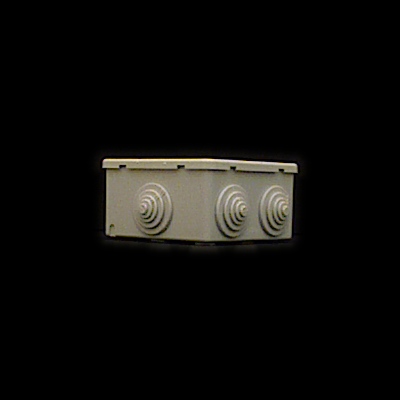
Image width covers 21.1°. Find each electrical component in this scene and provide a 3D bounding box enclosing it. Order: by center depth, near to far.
[{"bbox_3d":[0.000,0.000,0.658,0.098,0.048,0.101,2,1,40],"label":"electrical component"}]
